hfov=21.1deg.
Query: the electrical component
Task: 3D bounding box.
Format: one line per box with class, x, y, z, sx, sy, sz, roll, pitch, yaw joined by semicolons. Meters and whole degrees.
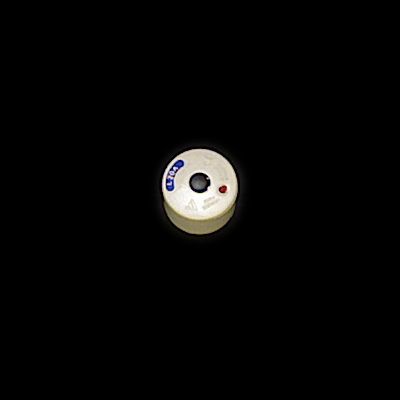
electrical component;0.000;0.000;0.616;0.040;0.040;0.078;0;-17;-1
